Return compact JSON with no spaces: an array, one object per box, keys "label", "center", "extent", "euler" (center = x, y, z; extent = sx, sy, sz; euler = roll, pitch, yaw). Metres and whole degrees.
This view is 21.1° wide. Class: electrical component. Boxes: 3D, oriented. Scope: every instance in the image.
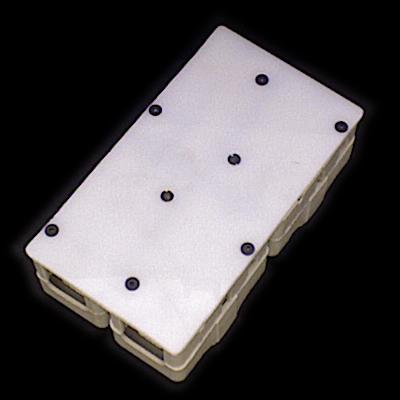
[{"label":"electrical component","center":[0.000,0.000,0.625],"extent":[0.105,0.187,0.060],"euler":[33,-23,15]}]
